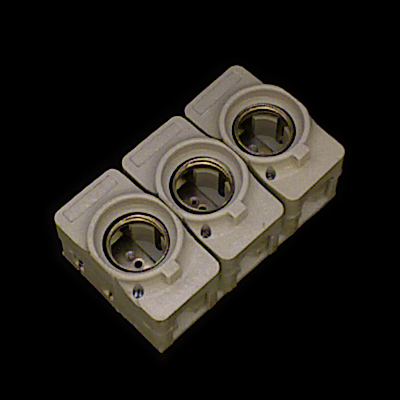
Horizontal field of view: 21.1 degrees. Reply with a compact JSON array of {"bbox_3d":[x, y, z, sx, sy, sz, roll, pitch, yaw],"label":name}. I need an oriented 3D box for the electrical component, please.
[{"bbox_3d":[0.000,0.000,0.631,0.150,0.089,0.062,-42,-19,-18],"label":"electrical component"}]
